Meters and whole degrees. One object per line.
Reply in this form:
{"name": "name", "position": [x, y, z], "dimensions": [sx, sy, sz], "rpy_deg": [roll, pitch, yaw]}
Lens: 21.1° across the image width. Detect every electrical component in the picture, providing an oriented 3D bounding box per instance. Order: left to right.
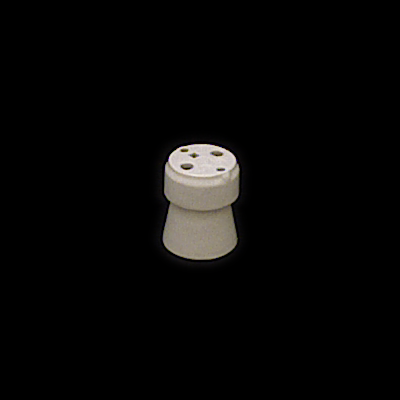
{"name": "electrical component", "position": [0.000, 0.000, 0.636], "dimensions": [0.045, 0.056, 0.044], "rpy_deg": [1, 32, -1]}
